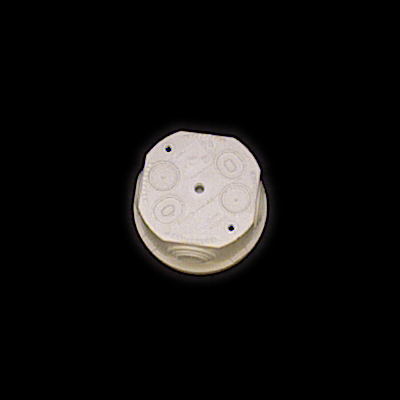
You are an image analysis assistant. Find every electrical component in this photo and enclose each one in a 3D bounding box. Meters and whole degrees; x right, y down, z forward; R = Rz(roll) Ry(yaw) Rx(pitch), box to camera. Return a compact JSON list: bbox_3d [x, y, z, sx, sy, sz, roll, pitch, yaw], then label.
[{"bbox_3d":[0.000,0.000,0.632,0.080,0.080,0.050,0,-18,0],"label":"electrical component"}]
